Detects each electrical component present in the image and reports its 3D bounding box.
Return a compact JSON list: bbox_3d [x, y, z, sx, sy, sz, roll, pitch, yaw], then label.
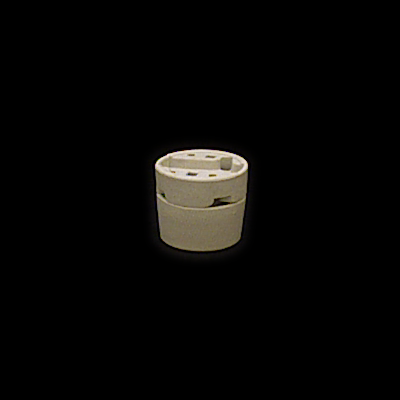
[{"bbox_3d":[0.000,0.000,0.641,0.055,0.047,0.055,1,21,0],"label":"electrical component"}]
